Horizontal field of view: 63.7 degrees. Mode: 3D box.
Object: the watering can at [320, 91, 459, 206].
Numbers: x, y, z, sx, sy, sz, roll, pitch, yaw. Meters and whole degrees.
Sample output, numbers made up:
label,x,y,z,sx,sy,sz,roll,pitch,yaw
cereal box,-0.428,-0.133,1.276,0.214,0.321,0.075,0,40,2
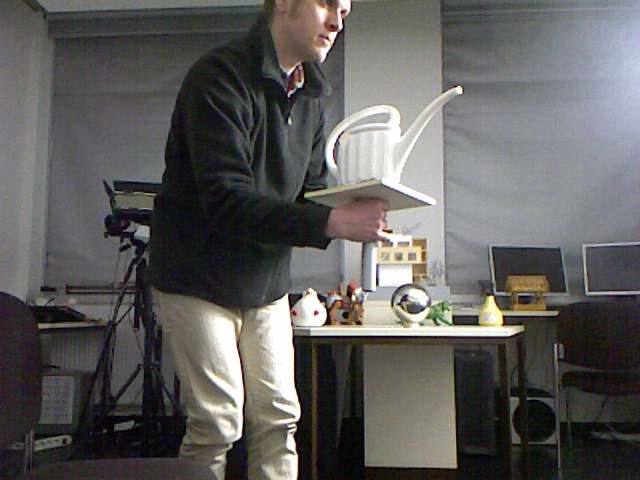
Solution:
label,x,y,z,sx,sy,sz,roll,pitch,yaw
watering can,0.137,-0.184,1.099,0.347,0.226,0.104,-8,-10,40
